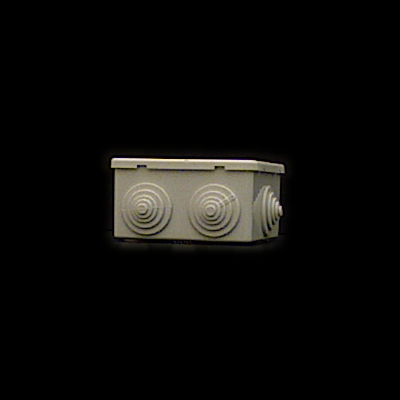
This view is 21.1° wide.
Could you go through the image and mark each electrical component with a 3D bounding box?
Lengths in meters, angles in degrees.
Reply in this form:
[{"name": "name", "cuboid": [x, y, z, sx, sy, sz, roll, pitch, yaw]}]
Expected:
[{"name": "electrical component", "cuboid": [0.000, 0.000, 0.658, 0.099, 0.048, 0.100, 2, 1, 15]}]
